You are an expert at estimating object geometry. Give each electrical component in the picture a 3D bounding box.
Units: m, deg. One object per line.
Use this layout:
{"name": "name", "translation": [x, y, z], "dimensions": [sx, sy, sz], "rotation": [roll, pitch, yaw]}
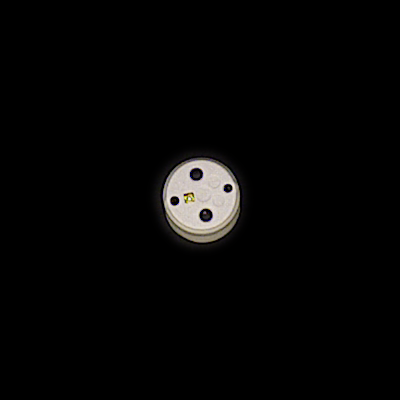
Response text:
{"name": "electrical component", "translation": [0.000, 0.000, 0.630], "dimensions": [0.045, 0.045, 0.055], "rotation": [0, -7, 0]}
